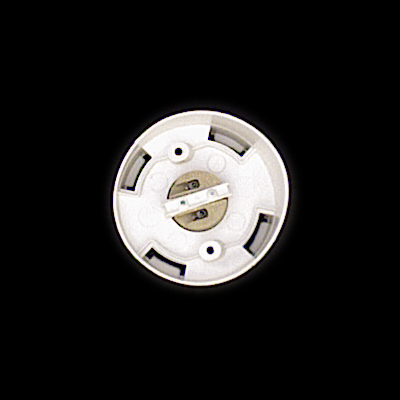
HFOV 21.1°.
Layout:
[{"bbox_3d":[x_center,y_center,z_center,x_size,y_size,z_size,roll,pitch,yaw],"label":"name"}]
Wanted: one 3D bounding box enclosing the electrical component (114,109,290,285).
[{"bbox_3d":[0.000,0.000,0.624,0.099,0.099,0.064,0,-7,-1],"label":"electrical component"}]
